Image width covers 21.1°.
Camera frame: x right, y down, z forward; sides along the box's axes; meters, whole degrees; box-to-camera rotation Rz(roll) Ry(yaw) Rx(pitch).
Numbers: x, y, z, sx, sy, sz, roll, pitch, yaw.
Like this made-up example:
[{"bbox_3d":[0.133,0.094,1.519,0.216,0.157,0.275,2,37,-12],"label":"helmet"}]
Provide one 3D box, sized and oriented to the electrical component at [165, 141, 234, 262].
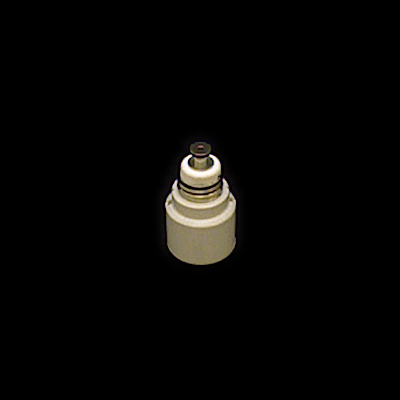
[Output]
[{"bbox_3d":[0.000,0.000,0.624,0.040,0.079,0.039,0,42,0],"label":"electrical component"}]
